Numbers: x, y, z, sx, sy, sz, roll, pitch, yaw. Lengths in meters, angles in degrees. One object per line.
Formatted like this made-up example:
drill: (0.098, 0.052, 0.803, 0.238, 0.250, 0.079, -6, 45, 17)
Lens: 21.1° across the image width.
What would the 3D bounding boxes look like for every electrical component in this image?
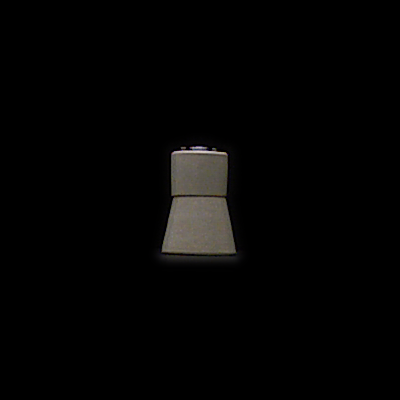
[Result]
electrical component: (0.000, 0.000, 0.652, 0.044, 0.065, 0.044, 1, 0, 0)
